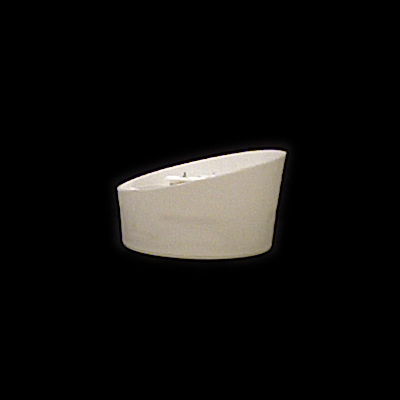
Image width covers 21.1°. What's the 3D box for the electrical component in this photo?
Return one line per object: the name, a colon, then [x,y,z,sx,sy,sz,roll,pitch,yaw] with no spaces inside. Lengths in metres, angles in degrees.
electrical component: [0.000,0.000,0.644,0.099,0.064,0.098,2,10,0]
